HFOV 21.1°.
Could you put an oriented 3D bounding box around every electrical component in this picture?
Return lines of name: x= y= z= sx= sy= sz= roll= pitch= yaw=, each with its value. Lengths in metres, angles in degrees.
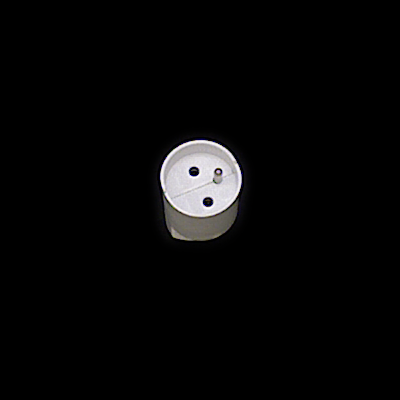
electrical component: x=0.000 y=0.000 z=0.616 sx=0.043 sy=0.043 sz=0.080 roll=0 pitch=-17 yaw=-1
